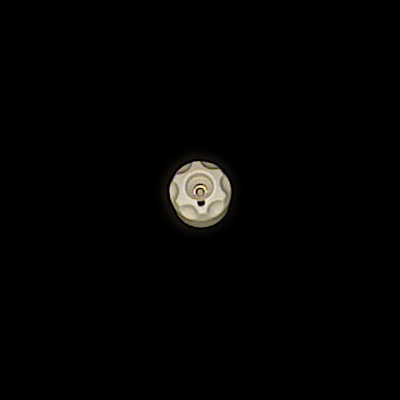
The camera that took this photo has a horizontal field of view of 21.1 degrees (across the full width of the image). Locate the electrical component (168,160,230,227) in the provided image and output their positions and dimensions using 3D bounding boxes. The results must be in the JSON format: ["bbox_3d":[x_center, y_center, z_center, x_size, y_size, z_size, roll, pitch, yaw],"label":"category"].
[{"bbox_3d":[0.000,0.000,0.633,0.035,0.035,0.061,0,-16,1],"label":"electrical component"}]
